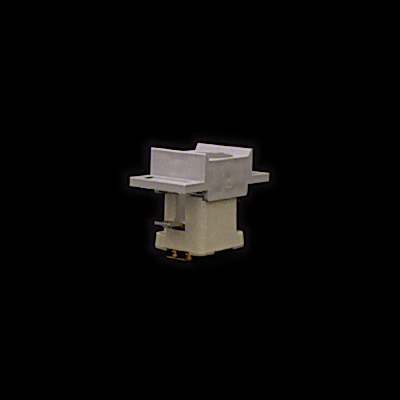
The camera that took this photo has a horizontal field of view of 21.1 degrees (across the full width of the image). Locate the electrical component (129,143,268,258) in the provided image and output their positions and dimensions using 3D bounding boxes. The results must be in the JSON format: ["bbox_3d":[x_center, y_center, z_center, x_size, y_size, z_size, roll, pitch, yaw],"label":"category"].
[{"bbox_3d":[0.000,0.000,0.641,0.042,0.064,0.081,11,14,38],"label":"electrical component"}]
